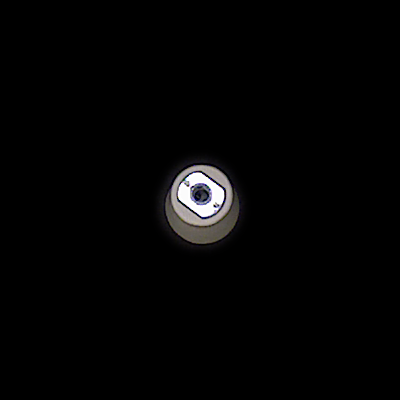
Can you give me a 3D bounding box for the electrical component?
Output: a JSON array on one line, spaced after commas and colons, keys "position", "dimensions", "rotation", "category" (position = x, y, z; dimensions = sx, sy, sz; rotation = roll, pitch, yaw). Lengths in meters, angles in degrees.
[{"position": [0.000, 0.000, 0.626], "dimensions": [0.044, 0.044, 0.065], "rotation": [0, -7, 0], "category": "electrical component"}]
